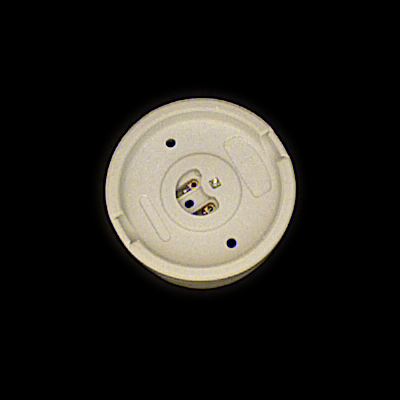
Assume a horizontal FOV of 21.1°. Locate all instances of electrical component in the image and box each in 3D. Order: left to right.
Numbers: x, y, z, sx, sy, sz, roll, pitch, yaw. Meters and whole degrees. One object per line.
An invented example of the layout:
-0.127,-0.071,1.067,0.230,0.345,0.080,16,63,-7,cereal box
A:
0.000,0.000,0.635,0.108,0.108,0.060,0,-16,1,electrical component
